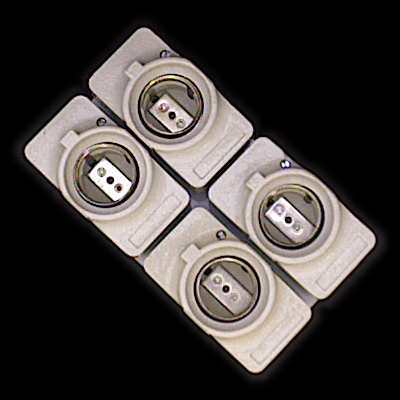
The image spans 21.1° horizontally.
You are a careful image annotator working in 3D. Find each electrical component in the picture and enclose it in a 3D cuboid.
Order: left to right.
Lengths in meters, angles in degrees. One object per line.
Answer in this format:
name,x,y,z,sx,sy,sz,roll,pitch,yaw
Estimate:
electrical component,0.000,0.000,0.626,0.186,0.106,0.060,43,-5,5
